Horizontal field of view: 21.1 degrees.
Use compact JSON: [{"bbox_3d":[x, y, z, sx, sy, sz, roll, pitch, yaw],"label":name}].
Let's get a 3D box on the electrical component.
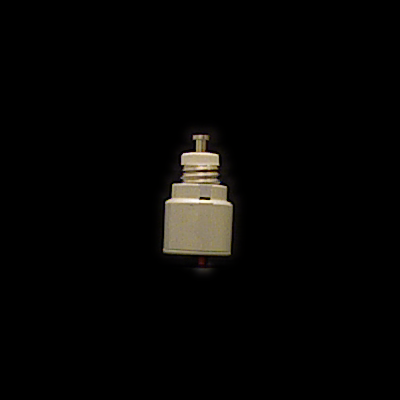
[{"bbox_3d":[0.000,0.000,0.649,0.040,0.078,0.040,2,1,0],"label":"electrical component"}]
